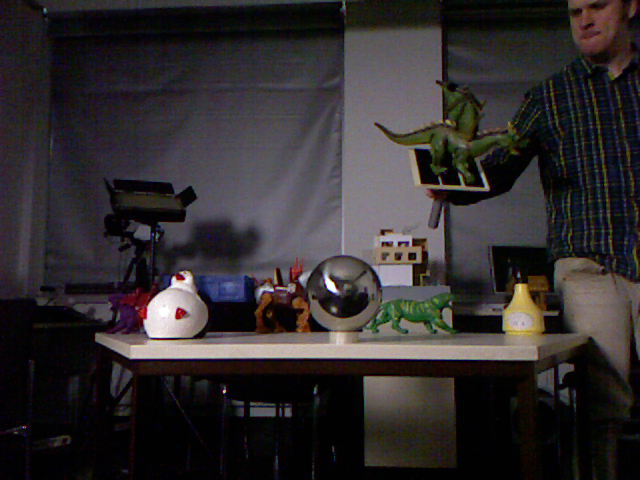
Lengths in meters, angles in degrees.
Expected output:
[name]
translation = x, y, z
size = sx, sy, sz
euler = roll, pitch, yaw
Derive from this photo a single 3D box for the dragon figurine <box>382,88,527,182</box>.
[dragon figurine]
translation = 0.357, -0.310, 1.419
size = 0.413, 0.237, 0.124
euler = 27, 47, 23
